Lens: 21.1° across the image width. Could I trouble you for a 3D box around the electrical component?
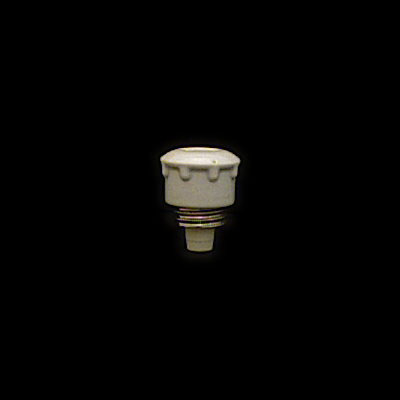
[{"bbox_3d":[0.000,0.000,0.649,0.048,0.062,0.048,1,11,0],"label":"electrical component"}]
